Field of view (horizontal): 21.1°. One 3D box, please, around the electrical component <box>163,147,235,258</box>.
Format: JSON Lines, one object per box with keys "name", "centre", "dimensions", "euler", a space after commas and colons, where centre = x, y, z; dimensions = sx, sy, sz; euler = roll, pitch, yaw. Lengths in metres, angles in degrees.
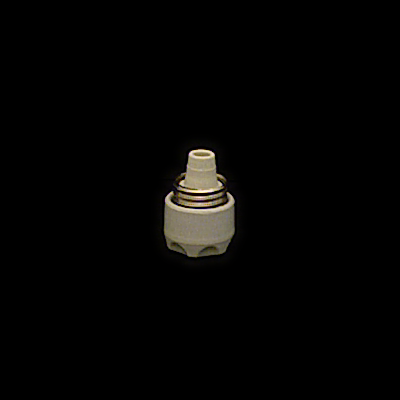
{"name": "electrical component", "centre": [0.000, 0.000, 0.645], "dimensions": [0.043, 0.063, 0.043], "euler": [2, 23, 0]}
